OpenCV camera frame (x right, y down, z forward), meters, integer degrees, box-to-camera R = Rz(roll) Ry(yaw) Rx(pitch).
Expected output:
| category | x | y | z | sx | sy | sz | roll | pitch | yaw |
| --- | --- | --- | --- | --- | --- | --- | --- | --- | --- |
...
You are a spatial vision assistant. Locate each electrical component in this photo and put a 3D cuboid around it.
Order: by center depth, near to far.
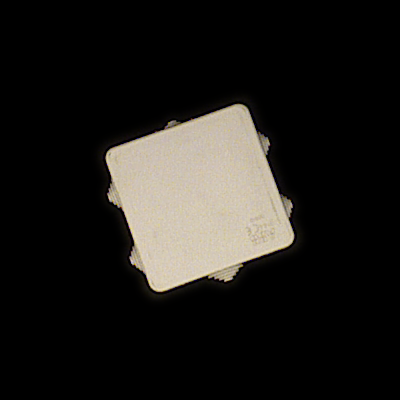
| category | x | y | z | sx | sy | sz | roll | pitch | yaw |
| --- | --- | --- | --- | --- | --- | --- | --- | --- | --- |
| electrical component | 0.000 | 0.000 | 0.642 | 0.100 | 0.100 | 0.048 | -19 | -6 | -2 |
